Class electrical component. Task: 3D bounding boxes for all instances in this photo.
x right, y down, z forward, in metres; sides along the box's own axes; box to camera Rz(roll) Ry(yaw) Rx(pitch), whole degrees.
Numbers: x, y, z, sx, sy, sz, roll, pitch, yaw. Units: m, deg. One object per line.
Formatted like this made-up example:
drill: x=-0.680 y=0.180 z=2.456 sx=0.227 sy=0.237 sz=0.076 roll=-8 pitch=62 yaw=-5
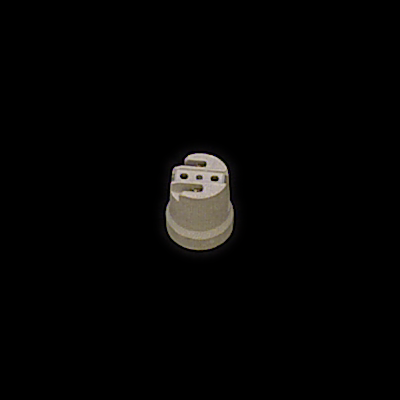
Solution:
electrical component: x=0.000 y=0.000 z=0.634 sx=0.040 sy=0.040 sz=0.046 roll=0 pitch=-38 yaw=-1
